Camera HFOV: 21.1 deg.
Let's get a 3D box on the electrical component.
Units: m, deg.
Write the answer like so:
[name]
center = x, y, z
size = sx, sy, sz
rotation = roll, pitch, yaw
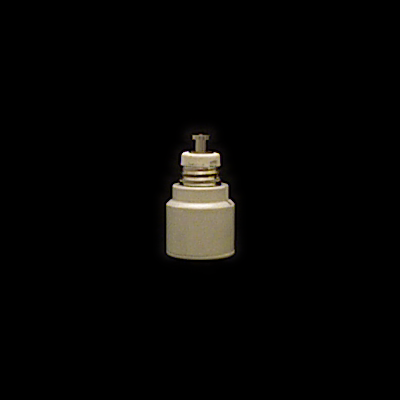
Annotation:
[electrical component]
center = 0.000, 0.000, 0.641
size = 0.040, 0.079, 0.040
rotation = 0, 11, 0
